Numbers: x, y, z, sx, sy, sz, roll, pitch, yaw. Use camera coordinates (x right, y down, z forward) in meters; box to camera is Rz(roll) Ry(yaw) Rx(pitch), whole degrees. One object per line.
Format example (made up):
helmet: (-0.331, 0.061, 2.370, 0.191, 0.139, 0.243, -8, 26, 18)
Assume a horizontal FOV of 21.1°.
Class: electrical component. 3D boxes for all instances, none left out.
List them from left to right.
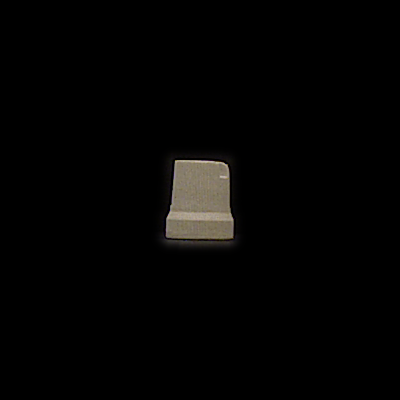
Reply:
electrical component: (0.000, 0.000, 0.649, 0.040, 0.046, 0.040, 1, 2, 0)
